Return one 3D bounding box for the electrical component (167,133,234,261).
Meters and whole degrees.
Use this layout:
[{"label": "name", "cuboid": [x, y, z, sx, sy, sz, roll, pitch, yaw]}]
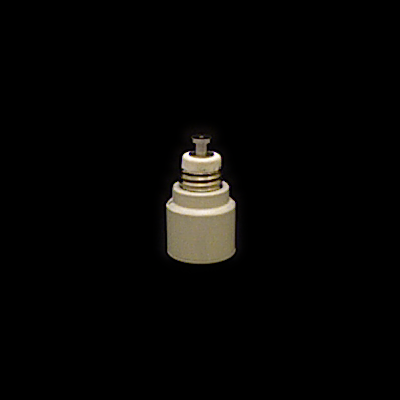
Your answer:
[{"label": "electrical component", "cuboid": [0.000, 0.000, 0.635, 0.040, 0.079, 0.039, 0, 22, 0]}]
